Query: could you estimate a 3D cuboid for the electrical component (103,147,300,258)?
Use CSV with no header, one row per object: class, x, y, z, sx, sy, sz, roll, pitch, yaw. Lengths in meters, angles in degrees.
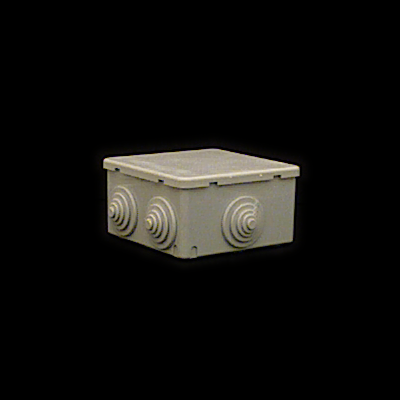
electrical component,0.000,0.000,0.651,0.100,0.049,0.098,-7,14,-36
